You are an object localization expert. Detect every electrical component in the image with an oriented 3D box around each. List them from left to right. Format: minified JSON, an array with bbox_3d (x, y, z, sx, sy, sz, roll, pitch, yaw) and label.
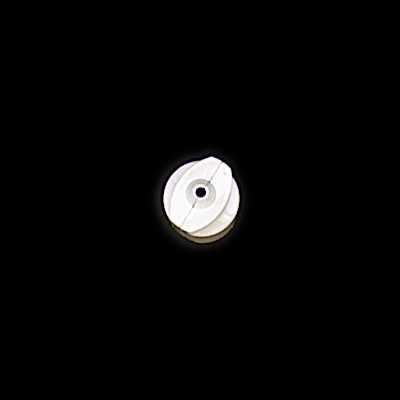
[{"bbox_3d":[0.000,0.000,0.616,0.043,0.043,0.080,0,-6,1],"label":"electrical component"}]
